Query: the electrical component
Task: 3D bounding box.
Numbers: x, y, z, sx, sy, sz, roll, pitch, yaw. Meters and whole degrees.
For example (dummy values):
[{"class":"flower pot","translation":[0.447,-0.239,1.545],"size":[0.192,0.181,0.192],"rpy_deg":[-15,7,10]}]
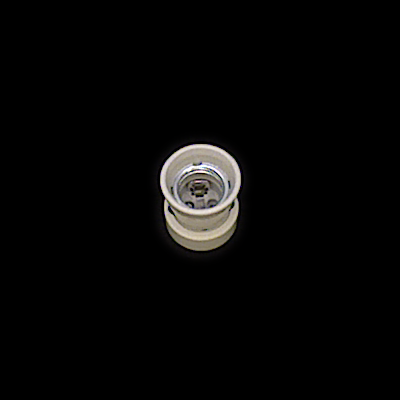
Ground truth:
[{"class":"electrical component","translation":[0.000,0.000,0.628],"size":[0.045,0.045,0.055],"rpy_deg":[0,-28,0]}]
